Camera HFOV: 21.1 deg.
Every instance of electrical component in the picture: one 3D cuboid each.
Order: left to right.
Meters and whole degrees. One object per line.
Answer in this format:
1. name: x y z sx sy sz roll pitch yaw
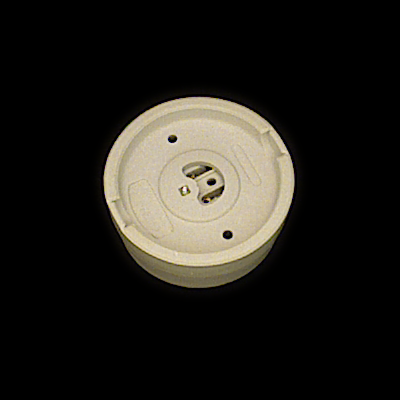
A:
1. electrical component: 0.000 0.000 0.632 0.108 0.108 0.060 0 -27 -1
